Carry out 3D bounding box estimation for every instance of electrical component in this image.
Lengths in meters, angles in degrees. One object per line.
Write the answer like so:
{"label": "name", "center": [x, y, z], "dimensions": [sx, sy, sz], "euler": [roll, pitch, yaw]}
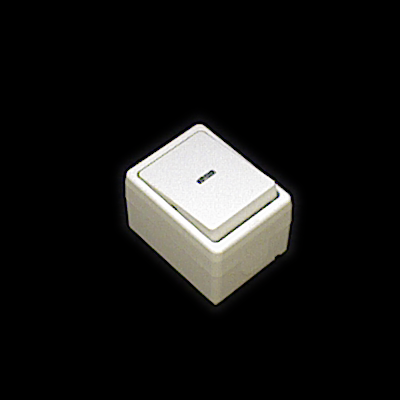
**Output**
{"label": "electrical component", "center": [0.000, 0.000, 0.629], "dimensions": [0.062, 0.061, 0.096], "euler": [-36, 61, -25]}
